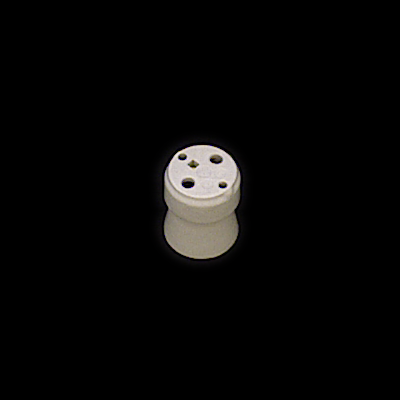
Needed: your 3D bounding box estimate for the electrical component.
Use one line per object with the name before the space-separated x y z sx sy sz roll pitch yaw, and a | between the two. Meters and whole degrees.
electrical component | 0.000 0.000 0.631 0.045 0.044 0.055 0 -37 -1
